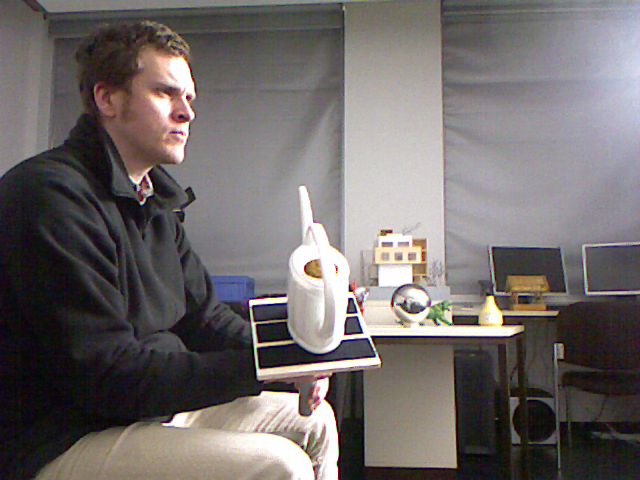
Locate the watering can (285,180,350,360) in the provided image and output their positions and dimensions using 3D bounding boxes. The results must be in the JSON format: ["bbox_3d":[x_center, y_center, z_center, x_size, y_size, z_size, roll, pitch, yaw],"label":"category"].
[{"bbox_3d":[-0.012,0.055,0.903,0.104,0.220,0.356,-2,33,-10],"label":"watering can"}]
